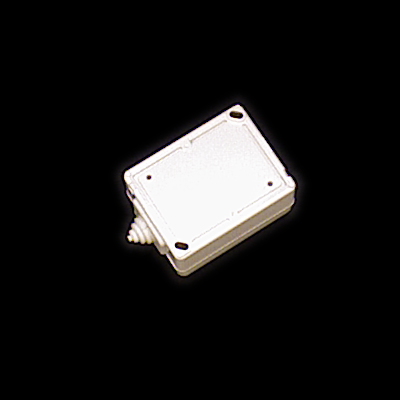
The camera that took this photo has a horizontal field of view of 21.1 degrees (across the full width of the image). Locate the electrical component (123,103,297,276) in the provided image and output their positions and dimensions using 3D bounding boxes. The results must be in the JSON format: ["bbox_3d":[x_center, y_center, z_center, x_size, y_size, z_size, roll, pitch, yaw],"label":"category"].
[{"bbox_3d":[0.000,0.000,0.628,0.096,0.062,0.060,-32,-14,-8],"label":"electrical component"}]
